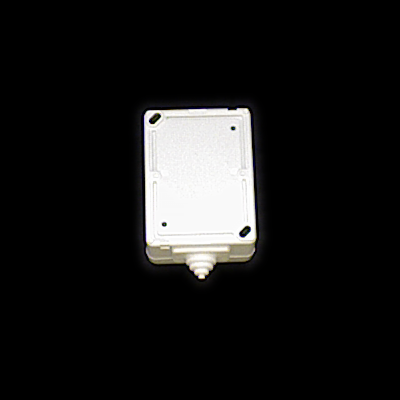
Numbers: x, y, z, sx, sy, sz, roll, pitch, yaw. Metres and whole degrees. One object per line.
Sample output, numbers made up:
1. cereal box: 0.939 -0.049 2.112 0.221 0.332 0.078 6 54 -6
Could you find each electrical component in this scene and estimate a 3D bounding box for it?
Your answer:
1. electrical component: 0.000 0.000 0.623 0.062 0.097 0.060 -2 -17 -1
